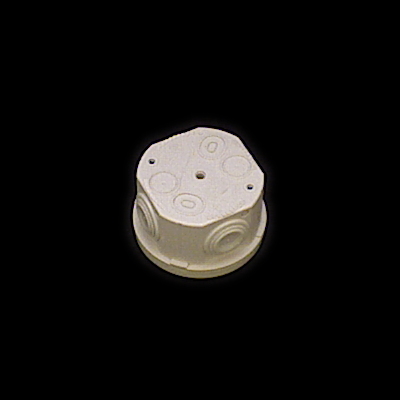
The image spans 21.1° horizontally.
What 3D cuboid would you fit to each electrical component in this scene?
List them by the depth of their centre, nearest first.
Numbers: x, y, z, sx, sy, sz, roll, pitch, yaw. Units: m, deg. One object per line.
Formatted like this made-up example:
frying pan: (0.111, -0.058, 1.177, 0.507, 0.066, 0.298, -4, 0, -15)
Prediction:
electrical component: (0.000, 0.000, 0.632, 0.080, 0.080, 0.051, 0, -38, -1)
